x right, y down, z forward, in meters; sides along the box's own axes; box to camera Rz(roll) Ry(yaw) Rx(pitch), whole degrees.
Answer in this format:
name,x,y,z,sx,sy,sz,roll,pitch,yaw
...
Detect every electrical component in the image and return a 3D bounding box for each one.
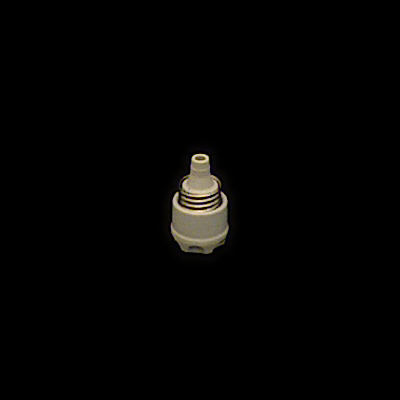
name,x,y,z,sx,sy,sz,roll,pitch,yaw
electrical component,0.000,0.000,0.648,0.035,0.062,0.034,0,34,0
